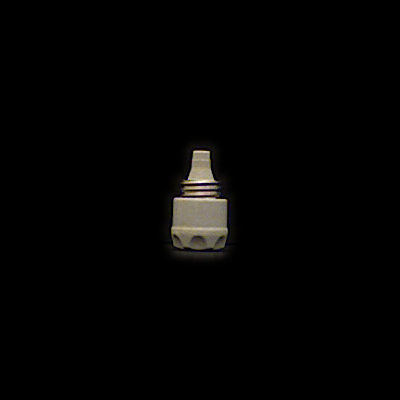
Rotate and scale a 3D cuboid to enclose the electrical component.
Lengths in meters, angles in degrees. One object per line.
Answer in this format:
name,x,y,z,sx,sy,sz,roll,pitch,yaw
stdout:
electrical component,0.000,0.000,0.664,0.035,0.061,0.035,1,3,0
